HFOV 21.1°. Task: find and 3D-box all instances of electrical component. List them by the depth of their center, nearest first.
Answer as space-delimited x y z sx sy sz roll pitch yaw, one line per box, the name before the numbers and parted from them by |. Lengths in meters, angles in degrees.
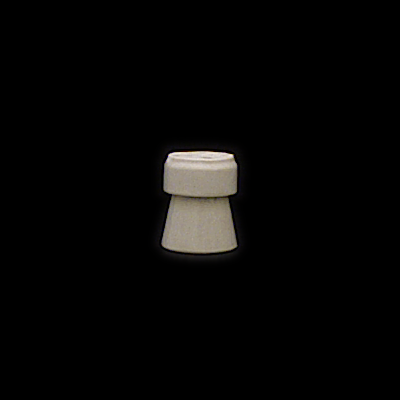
electrical component | 0.000 0.000 0.646 0.045 0.055 0.044 2 11 0
